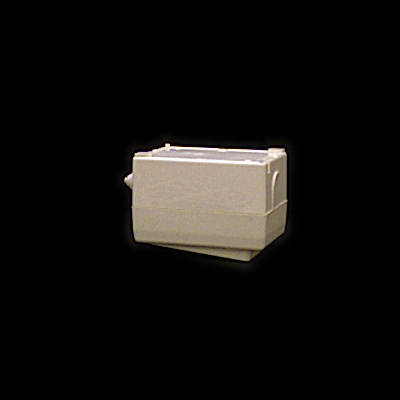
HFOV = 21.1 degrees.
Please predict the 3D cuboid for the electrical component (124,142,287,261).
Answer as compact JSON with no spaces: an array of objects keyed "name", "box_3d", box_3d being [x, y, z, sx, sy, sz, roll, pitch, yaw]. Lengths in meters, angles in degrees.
[{"name":"electrical component","box_3d":[0.000,0.000,0.647,0.096,0.061,0.061,3,11,16]}]
